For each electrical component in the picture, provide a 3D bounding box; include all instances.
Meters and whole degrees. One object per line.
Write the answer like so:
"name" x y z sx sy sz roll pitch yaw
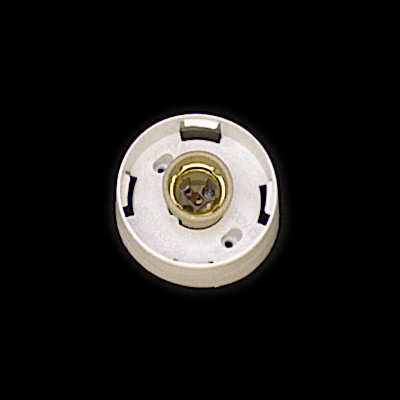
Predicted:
"electrical component" 0.000 0.000 0.624 0.099 0.099 0.063 0 -17 -1
